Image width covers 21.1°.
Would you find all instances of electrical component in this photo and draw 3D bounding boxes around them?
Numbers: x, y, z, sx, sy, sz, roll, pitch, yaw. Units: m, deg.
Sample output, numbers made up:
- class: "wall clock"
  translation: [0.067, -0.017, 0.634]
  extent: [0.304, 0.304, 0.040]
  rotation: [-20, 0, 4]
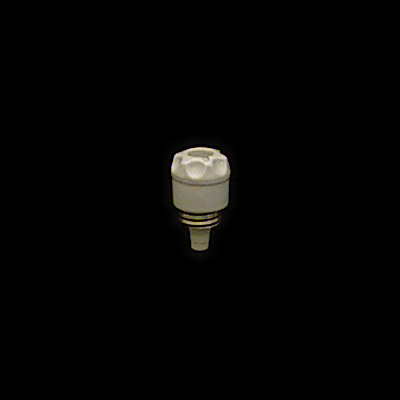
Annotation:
- class: "electrical component"
  translation: [0.000, 0.000, 0.643]
  extent: [0.035, 0.062, 0.035]
  rotation: [1, 22, 0]
